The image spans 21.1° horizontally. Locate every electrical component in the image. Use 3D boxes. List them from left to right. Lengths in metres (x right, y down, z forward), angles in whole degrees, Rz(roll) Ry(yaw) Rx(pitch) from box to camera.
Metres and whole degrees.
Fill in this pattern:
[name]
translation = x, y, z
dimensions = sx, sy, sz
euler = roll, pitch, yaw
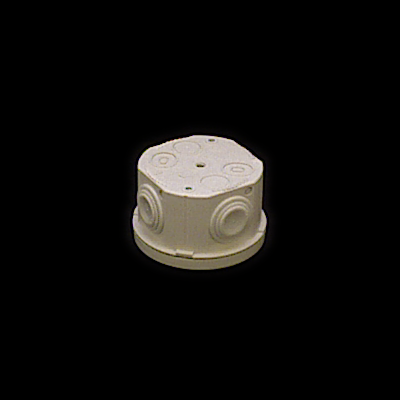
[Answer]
[electrical component]
translation = 0.000, 0.000, 0.636
dimensions = 0.080, 0.051, 0.079
euler = 1, 32, 0
